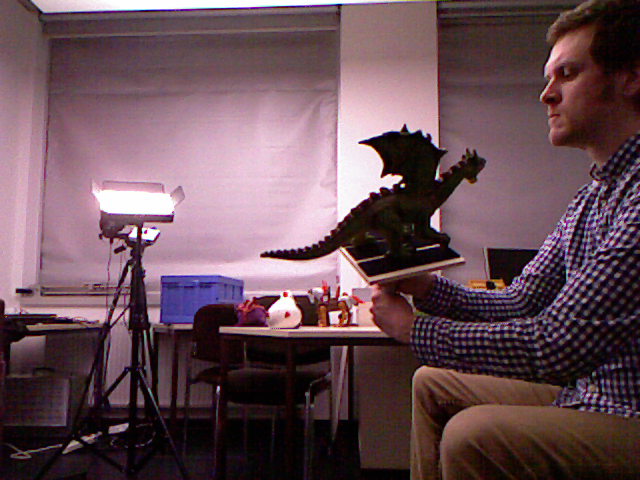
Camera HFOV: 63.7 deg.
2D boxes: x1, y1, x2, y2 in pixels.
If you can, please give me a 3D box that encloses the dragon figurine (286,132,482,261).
[{"bbox_3d":[0.135,-0.088,0.959,0.413,0.238,0.124,-11,31,-21],"label":"dragon figurine"}]
